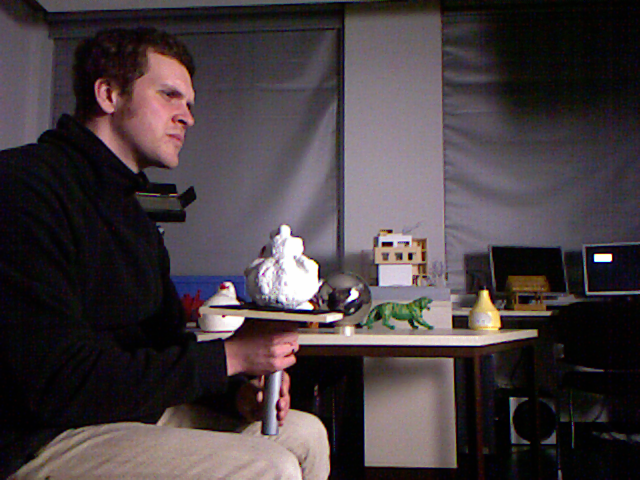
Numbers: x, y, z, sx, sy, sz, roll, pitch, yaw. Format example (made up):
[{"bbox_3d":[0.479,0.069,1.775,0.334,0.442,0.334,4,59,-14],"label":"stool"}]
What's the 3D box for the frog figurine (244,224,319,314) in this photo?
[{"bbox_3d":[-0.066,0.049,0.907,0.137,0.160,0.122,0,-5,30],"label":"frog figurine"}]
